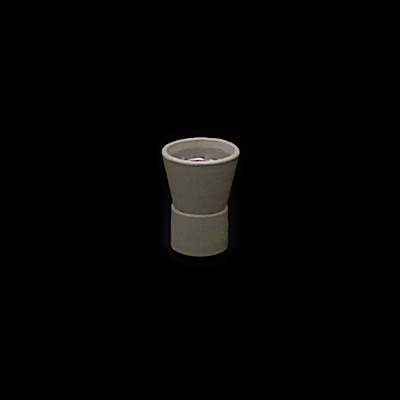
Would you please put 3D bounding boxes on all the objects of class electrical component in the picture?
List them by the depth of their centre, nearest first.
[{"bbox_3d":[0.000,0.000,0.636,0.044,0.066,0.044,1,22,0],"label":"electrical component"}]
